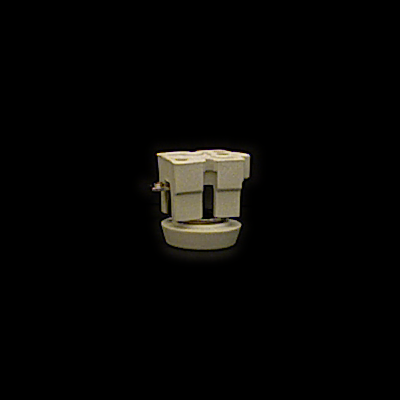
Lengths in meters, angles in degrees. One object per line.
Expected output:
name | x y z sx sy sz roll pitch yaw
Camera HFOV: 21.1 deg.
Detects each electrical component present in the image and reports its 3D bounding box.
electrical component | 0.000 0.000 0.653 0.067 0.056 0.048 -4 14 -19
